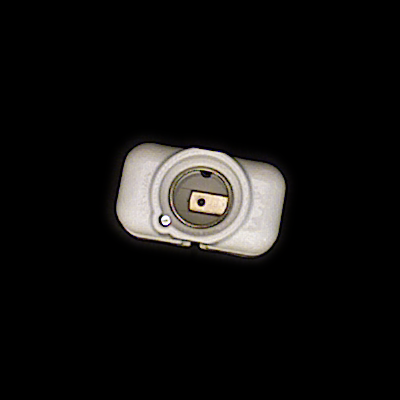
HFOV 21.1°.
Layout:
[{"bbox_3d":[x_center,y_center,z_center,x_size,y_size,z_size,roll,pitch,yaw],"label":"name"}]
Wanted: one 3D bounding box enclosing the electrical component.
[{"bbox_3d":[0.000,0.000,0.635,0.095,0.054,0.059,9,-5,2],"label":"electrical component"}]
